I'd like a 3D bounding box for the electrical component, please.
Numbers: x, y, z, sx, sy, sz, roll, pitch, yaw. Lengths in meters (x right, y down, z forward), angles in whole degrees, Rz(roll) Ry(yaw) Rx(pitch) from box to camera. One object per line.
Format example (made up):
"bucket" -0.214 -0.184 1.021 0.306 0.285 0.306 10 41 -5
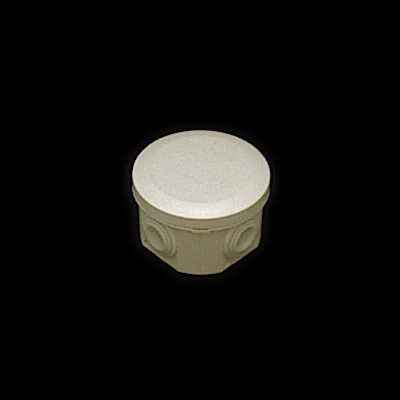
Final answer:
"electrical component" 0.000 0.000 0.632 0.080 0.051 0.080 0 42 0
